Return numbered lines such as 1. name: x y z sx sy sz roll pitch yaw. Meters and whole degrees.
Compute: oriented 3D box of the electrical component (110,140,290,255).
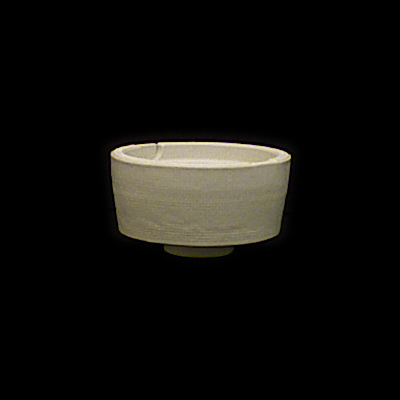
1. electrical component: 0.000 0.000 0.650 0.108 0.061 0.107 1 11 0
